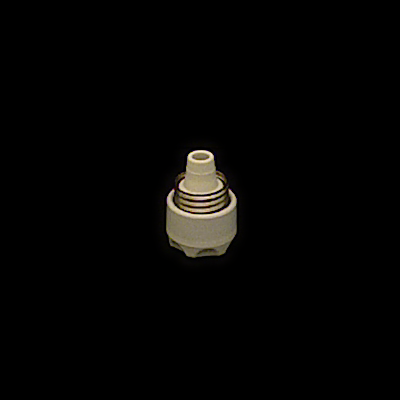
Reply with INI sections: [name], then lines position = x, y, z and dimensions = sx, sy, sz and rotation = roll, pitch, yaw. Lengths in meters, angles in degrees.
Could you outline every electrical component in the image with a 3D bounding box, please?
[electrical component]
position = 0.000, 0.000, 0.642
dimensions = 0.043, 0.063, 0.043
rotation = 0, 31, 0
